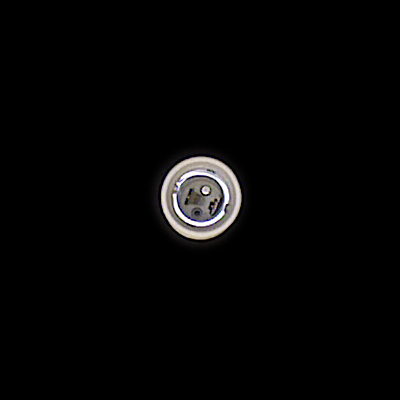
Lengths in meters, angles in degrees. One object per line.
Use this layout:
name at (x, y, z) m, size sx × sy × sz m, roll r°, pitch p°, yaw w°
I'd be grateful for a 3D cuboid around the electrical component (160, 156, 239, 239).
electrical component at (0.000, 0.000, 0.629) m, size 0.045 × 0.045 × 0.055 m, roll 0°, pitch -6°, yaw 0°
